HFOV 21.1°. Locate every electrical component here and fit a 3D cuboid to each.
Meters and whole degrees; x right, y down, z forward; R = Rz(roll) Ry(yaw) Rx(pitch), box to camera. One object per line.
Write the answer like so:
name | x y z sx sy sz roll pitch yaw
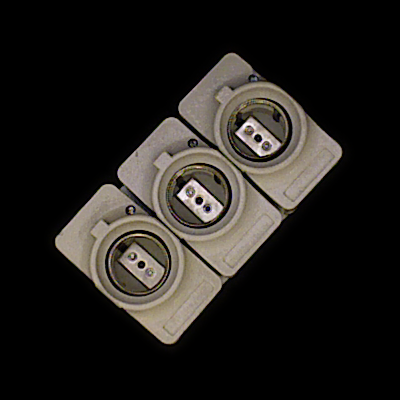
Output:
electrical component | 0.000 0.000 0.632 0.089 0.150 0.061 42 -5 5
